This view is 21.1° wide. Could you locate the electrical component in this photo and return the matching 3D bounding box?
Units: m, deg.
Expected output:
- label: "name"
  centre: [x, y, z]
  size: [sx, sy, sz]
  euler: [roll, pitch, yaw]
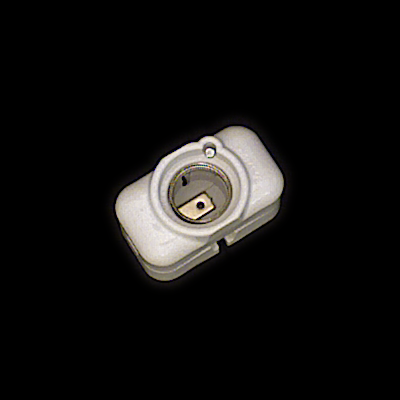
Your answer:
- label: "electrical component"
  centre: [0.000, 0.000, 0.634]
  size: [0.095, 0.053, 0.059]
  euler: [-32, -13, -9]
